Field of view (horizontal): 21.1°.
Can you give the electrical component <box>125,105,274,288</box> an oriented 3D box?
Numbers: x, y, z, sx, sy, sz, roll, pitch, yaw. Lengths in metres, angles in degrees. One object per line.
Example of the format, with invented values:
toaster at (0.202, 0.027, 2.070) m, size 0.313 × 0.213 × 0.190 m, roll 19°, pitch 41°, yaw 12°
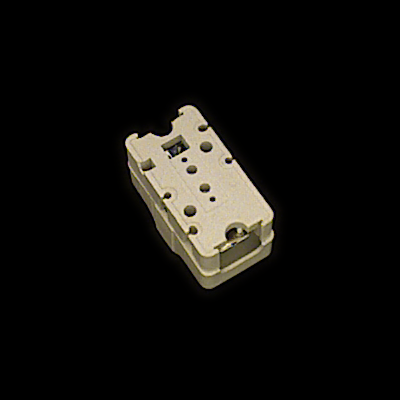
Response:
electrical component at (0.000, 0.000, 0.635) m, size 0.050 × 0.089 × 0.055 m, roll -30°, pitch -23°, yaw -13°
